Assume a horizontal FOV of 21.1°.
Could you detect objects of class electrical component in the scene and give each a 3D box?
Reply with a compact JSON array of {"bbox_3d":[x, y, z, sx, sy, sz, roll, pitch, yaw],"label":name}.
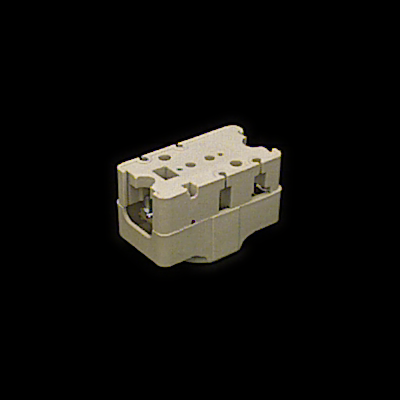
[{"bbox_3d":[0.000,0.000,0.642,0.090,0.056,0.049,-22,39,-31],"label":"electrical component"}]
